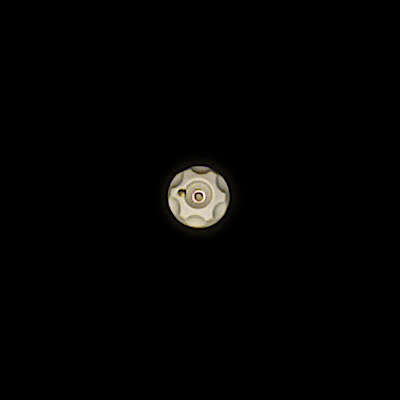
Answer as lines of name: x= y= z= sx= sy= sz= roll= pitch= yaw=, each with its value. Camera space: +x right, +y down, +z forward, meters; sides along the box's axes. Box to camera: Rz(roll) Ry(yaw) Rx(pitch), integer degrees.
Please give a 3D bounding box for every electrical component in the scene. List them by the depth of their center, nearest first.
electrical component: x=0.000 y=0.000 z=0.635 sx=0.035 sy=0.035 sz=0.061 roll=0 pitch=-6 yaw=1
